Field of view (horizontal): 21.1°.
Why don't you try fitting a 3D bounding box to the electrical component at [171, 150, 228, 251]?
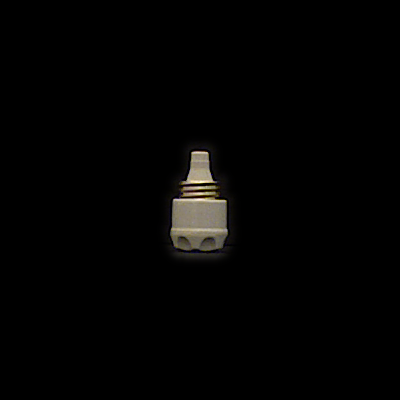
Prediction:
[{"bbox_3d":[0.000,0.000,0.663,0.035,0.061,0.035,0,3,0],"label":"electrical component"}]
